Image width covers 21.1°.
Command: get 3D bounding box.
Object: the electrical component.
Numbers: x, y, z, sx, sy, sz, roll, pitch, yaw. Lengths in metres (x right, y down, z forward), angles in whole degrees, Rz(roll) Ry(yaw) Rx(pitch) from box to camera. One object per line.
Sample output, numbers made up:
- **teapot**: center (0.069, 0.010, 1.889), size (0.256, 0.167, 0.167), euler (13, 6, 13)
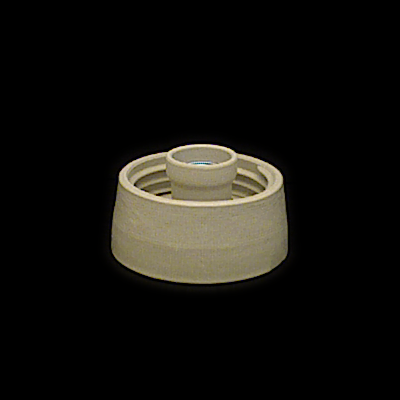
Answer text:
- **electrical component**: center (0.000, 0.000, 0.646), size (0.108, 0.061, 0.106), euler (1, 21, 0)
